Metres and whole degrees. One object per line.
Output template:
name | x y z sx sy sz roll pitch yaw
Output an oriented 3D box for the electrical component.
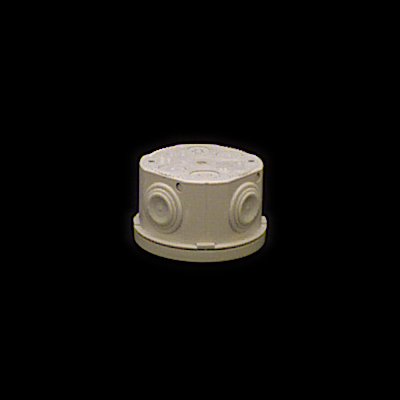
electrical component | 0.000 0.000 0.641 0.080 0.051 0.079 2 21 0
